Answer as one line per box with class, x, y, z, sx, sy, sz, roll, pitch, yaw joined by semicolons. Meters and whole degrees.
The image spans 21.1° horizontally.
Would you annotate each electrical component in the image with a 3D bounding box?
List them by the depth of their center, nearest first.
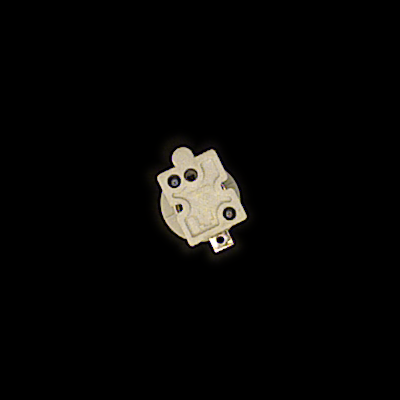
electrical component;0.000;0.000;0.639;0.048;0.066;0.055;-26;-4;-3
